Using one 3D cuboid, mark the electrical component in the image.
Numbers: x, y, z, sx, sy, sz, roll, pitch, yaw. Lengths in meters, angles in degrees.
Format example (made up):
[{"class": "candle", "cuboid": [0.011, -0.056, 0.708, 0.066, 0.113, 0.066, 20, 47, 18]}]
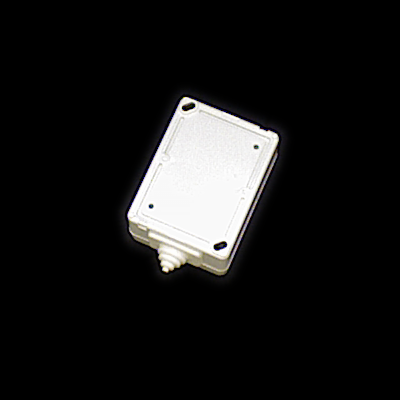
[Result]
[{"class": "electrical component", "cuboid": [0.000, 0.000, 0.623, 0.062, 0.097, 0.060, 22, -16, 6]}]
